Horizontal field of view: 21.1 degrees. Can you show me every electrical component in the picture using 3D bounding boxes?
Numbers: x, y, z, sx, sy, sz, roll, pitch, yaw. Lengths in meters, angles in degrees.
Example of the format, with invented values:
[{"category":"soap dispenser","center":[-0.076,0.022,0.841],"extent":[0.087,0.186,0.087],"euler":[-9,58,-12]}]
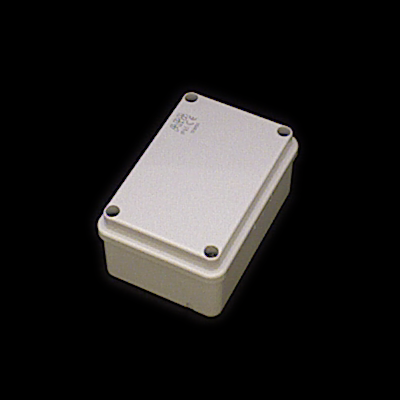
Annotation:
[{"category":"electrical component","center":[0.000,0.000,0.629],"extent":[0.078,0.113,0.057],"euler":[22,-34,16]}]
